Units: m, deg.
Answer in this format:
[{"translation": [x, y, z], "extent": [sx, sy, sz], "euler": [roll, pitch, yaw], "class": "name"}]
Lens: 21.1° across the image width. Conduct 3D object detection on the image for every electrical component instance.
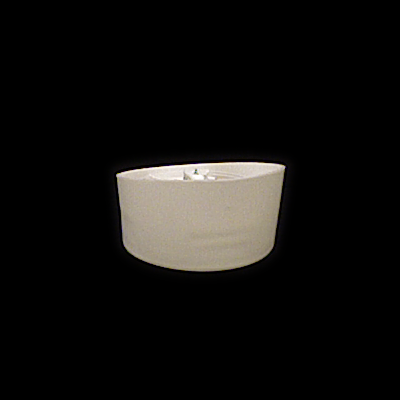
[{"translation": [0.000, 0.000, 0.637], "extent": [0.099, 0.065, 0.097], "euler": [2, 21, -1], "class": "electrical component"}]
